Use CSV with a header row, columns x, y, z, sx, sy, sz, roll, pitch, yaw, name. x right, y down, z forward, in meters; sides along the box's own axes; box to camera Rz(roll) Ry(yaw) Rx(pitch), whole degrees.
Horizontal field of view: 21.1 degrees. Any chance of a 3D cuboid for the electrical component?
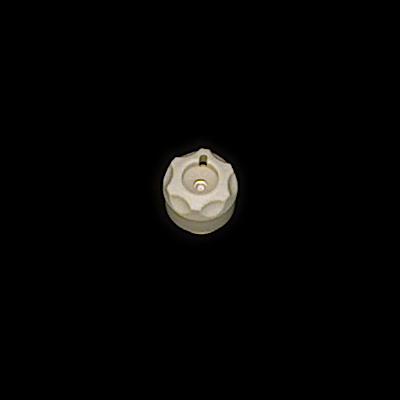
x,y,z,sx,sy,sz,roll,pitch,yaw,name
0.000,0.000,0.633,0.043,0.043,0.062,0,-26,0,electrical component
